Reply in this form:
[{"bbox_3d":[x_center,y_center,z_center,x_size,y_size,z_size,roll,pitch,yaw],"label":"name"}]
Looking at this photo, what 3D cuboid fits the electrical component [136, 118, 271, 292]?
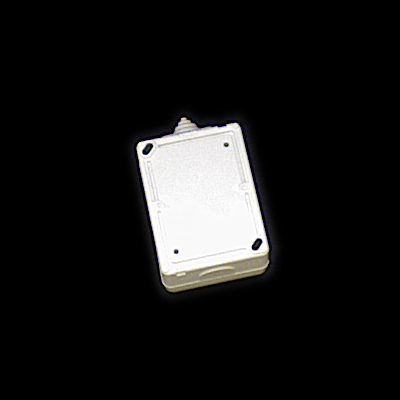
[{"bbox_3d":[0.000,0.000,0.628,0.062,0.096,0.061,-12,-16,-3],"label":"electrical component"}]
